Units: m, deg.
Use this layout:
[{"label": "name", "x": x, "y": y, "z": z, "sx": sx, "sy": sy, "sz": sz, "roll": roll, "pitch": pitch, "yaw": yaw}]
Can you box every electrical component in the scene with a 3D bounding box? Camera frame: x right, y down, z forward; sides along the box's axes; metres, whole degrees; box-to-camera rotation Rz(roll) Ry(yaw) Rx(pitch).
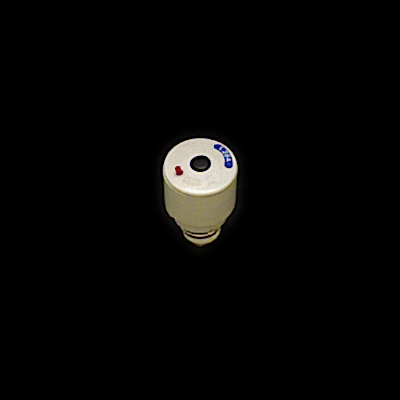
[{"label": "electrical component", "x": 0.000, "y": 0.000, "z": 0.620, "sx": 0.040, "sy": 0.040, "sz": 0.078, "roll": 0, "pitch": -37, "yaw": 0}]
